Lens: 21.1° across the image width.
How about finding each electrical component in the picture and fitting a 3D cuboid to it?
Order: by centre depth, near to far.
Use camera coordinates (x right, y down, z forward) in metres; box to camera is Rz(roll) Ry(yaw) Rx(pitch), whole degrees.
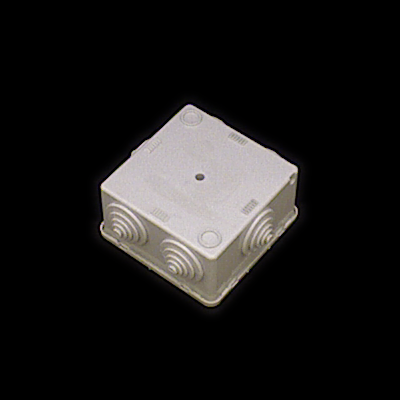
[{"bbox_3d":[0.000,0.000,0.632,0.099,0.100,0.049,32,-31,21],"label":"electrical component"}]
